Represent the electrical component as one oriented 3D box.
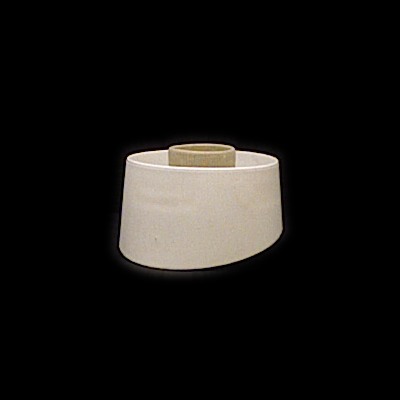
[{"bbox_3d":[0.000,0.000,0.644,0.099,0.064,0.098,1,11,0],"label":"electrical component"}]
